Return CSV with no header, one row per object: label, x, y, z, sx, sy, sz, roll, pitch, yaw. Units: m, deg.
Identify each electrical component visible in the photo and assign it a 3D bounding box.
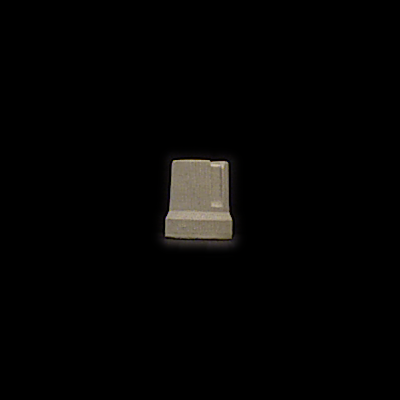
electrical component,0.000,0.000,0.651,0.040,0.046,0.040,2,1,0
